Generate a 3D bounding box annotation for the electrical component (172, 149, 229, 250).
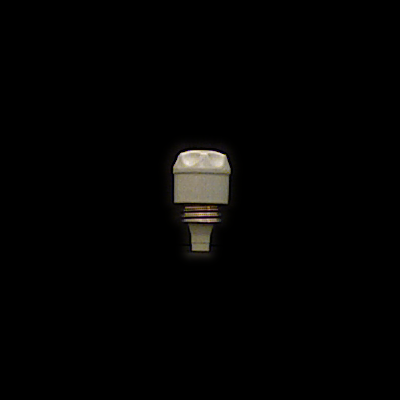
[{"bbox_3d":[0.000,0.000,0.659,0.035,0.061,0.035,1,1,1],"label":"electrical component"}]
